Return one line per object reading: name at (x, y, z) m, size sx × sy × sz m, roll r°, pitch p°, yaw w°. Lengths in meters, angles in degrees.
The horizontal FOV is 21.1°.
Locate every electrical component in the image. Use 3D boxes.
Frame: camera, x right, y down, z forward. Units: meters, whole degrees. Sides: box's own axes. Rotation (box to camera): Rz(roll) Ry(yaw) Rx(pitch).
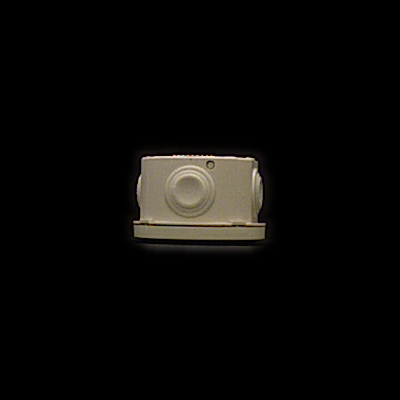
electrical component at (0.000, 0.000, 0.651) m, size 0.080 × 0.051 × 0.080 m, roll 1°, pitch 0°, yaw 0°
